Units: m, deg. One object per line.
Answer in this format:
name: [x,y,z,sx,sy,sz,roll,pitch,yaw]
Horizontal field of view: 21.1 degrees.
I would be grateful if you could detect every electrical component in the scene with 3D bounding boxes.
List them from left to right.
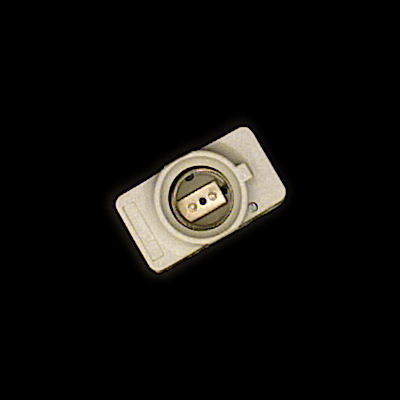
electrical component: [0.000,0.000,0.637,0.090,0.050,0.055,-30,-5,-2]
